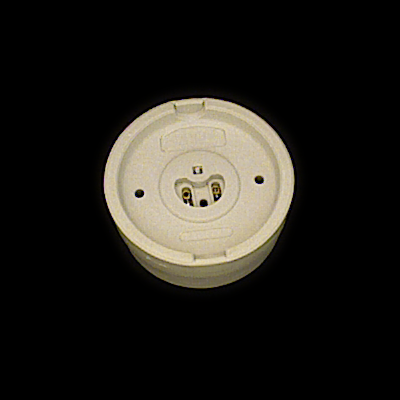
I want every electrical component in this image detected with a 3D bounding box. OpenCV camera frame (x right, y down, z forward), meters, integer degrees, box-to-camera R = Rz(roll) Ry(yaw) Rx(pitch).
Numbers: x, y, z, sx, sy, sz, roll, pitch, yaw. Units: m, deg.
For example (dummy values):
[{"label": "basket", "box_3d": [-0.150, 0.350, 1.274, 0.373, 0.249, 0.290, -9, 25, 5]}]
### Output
[{"label": "electrical component", "box_3d": [0.000, 0.000, 0.635, 0.108, 0.108, 0.060, 0, -26, 0]}]
